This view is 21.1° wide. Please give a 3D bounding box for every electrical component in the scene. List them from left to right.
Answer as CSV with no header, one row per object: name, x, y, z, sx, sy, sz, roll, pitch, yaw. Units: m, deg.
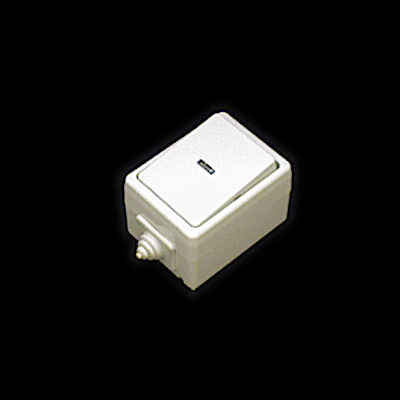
electrical component,0.000,0.000,0.627,0.096,0.061,0.061,-36,61,-25
